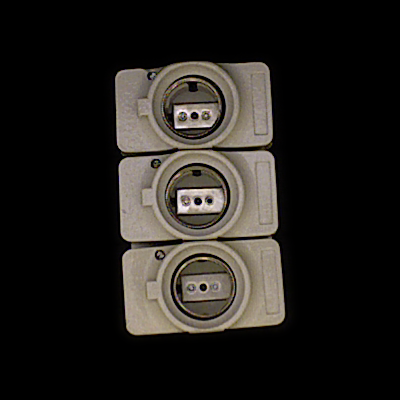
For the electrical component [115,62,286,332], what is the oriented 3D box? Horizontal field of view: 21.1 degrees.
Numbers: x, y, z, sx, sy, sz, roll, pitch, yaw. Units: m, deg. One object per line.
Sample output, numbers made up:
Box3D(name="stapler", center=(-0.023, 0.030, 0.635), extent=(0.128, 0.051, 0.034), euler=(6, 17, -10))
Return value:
Box3D(name="electrical component", center=(0.000, 0.000, 0.632), extent=(0.089, 0.150, 0.061), euler=(-3, -7, 0))
